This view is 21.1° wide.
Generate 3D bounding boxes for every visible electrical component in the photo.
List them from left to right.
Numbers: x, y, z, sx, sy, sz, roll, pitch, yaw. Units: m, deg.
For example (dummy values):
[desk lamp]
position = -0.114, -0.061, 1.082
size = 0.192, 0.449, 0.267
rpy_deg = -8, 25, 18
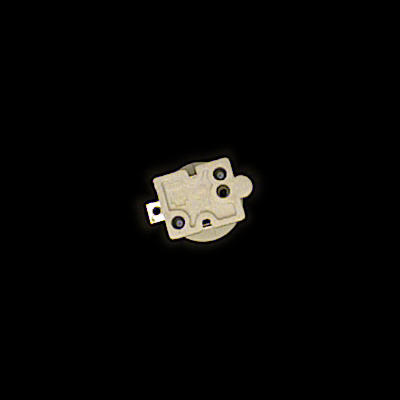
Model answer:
[electrical component]
position = 0.000, 0.000, 0.639
size = 0.066, 0.048, 0.055
rpy_deg = -16, -4, 0
